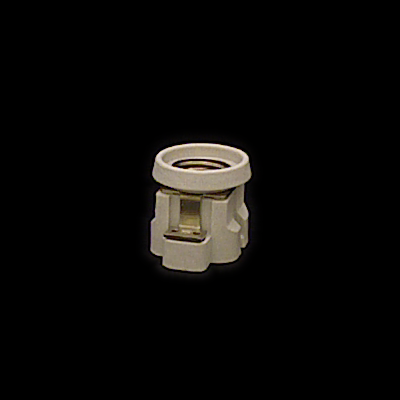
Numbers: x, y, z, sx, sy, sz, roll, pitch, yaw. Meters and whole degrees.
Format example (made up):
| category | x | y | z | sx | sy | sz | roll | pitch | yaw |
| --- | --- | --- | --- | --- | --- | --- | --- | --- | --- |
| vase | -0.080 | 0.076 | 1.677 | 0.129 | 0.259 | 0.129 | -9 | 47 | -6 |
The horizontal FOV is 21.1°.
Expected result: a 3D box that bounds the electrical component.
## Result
| category | x | y | z | sx | sy | sz | roll | pitch | yaw |
| --- | --- | --- | --- | --- | --- | --- | --- | --- | --- |
| electrical component | 0.000 | 0.000 | 0.637 | 0.058 | 0.057 | 0.078 | 7 | 22 | 14 |
